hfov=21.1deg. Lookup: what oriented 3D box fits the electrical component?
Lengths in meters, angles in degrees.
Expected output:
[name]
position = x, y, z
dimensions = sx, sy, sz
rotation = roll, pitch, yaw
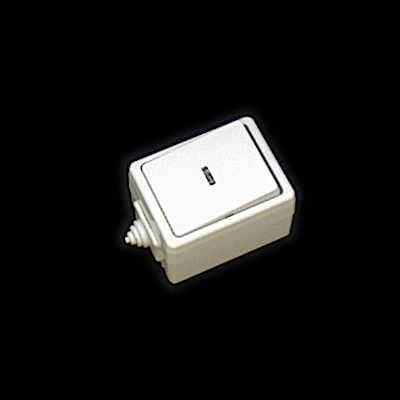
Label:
[electrical component]
position = 0.000, 0.000, 0.626
dimensions = 0.096, 0.062, 0.061
rotation = -23, -25, -11
